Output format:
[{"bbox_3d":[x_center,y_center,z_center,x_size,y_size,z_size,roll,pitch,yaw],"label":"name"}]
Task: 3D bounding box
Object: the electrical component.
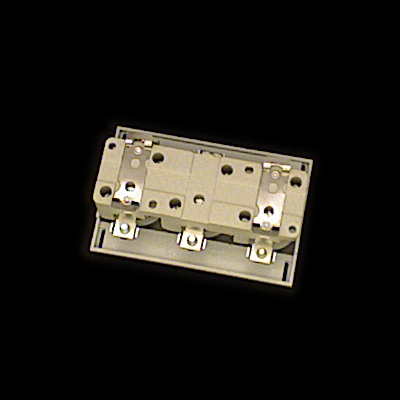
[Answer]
[{"bbox_3d":[0.000,0.000,0.635,0.121,0.079,0.063,10,-17,3],"label":"electrical component"}]
